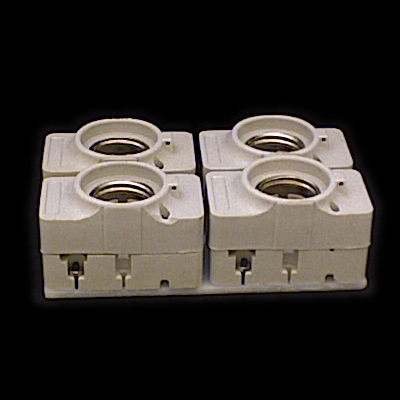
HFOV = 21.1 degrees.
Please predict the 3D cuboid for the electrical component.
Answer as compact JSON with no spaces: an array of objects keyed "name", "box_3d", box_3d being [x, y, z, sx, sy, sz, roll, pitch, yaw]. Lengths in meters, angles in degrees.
[{"name":"electrical component","box_3d":[0.000,0.000,0.635,0.186,0.061,0.104,-1,31,-4]}]
